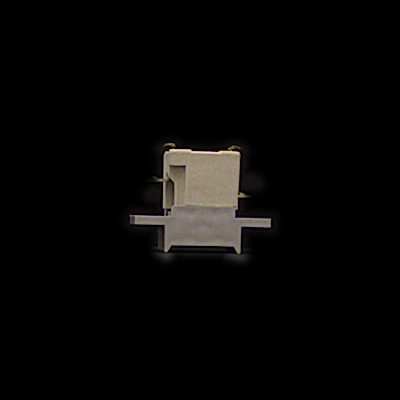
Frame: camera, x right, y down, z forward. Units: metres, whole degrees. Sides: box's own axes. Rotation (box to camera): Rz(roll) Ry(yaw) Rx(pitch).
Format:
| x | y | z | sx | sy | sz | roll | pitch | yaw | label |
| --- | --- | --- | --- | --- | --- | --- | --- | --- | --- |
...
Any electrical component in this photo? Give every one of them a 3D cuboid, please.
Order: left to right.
| x | y | z | sx | sy | sz | roll | pitch | yaw | label |
| --- | --- | --- | --- | --- | --- | --- | --- | --- | --- |
| 0.000 | 0.000 | 0.650 | 0.081 | 0.064 | 0.042 | 1 | 1 | -8 | electrical component |
